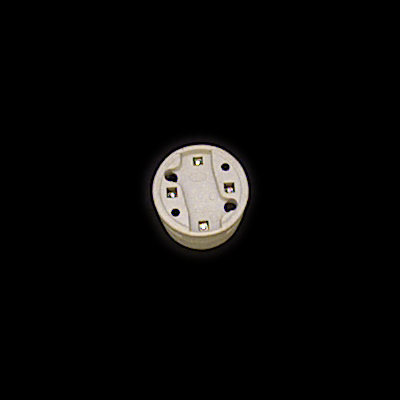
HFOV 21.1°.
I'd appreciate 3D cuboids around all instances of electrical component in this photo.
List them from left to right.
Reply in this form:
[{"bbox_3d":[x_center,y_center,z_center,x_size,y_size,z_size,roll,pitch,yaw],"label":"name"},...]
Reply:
[{"bbox_3d":[0.000,0.000,0.634,0.055,0.056,0.047,0,-17,1],"label":"electrical component"}]
